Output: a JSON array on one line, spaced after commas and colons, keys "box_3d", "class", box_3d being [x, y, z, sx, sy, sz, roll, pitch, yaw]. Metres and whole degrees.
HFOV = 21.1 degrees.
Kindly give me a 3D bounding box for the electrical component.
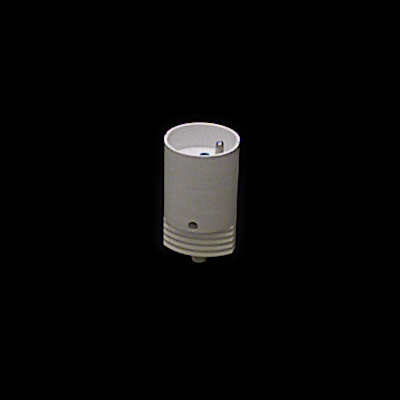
[{"box_3d": [0.000, 0.000, 0.630, 0.043, 0.082, 0.042, 1, 32, -1], "class": "electrical component"}]
